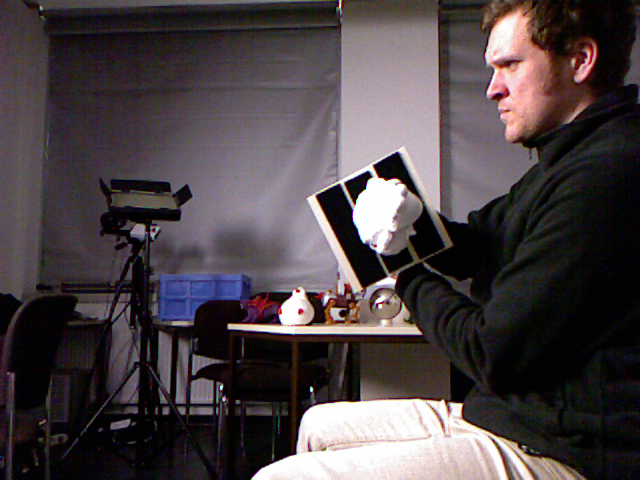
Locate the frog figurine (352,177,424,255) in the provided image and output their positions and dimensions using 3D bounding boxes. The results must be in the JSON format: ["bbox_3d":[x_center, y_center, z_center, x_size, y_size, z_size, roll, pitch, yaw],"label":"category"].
[{"bbox_3d":[0.115,-0.041,0.885,0.123,0.138,0.160,-6,1,7],"label":"frog figurine"}]
